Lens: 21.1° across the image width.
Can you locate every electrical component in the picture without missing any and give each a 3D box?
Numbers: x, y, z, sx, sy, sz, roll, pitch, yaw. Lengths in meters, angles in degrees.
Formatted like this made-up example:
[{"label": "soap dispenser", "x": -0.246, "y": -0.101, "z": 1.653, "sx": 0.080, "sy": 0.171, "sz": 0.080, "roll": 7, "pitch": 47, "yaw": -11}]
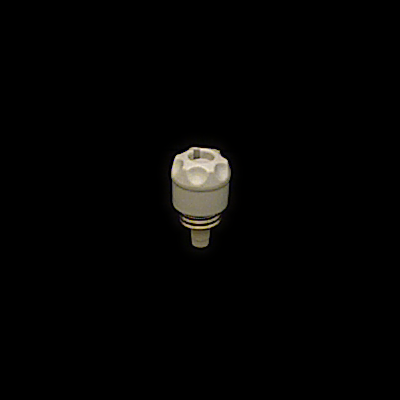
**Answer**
[{"label": "electrical component", "x": 0.000, "y": 0.000, "z": 0.643, "sx": 0.035, "sy": 0.062, "sz": 0.034, "roll": 1, "pitch": 32, "yaw": 0}]
